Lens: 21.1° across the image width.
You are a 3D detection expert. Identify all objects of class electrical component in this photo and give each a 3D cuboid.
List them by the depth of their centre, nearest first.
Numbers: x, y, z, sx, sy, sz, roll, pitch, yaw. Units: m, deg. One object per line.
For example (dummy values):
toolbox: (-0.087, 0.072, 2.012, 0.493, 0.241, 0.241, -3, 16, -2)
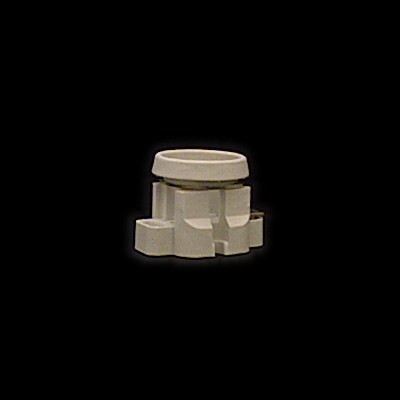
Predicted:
electrical component: (0.000, 0.000, 0.646, 0.078, 0.057, 0.057, -4, 12, -27)
